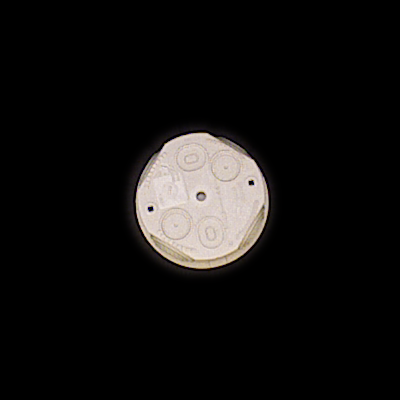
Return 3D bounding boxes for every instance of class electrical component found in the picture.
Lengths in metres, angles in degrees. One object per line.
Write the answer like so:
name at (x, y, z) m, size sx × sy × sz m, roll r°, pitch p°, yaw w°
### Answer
electrical component at (0.000, 0.000, 0.633) m, size 0.080 × 0.080 × 0.050 m, roll 0°, pitch -6°, yaw 1°
